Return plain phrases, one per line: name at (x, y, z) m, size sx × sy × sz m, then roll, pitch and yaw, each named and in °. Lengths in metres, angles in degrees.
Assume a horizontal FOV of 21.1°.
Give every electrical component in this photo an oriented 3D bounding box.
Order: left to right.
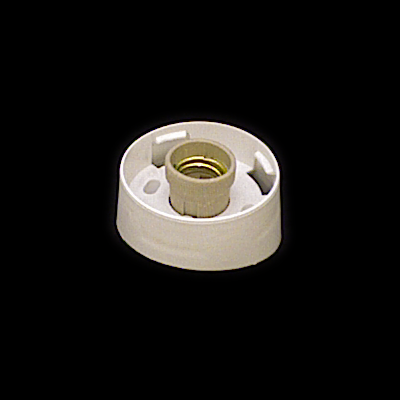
electrical component at (0.000, 0.000, 0.629) m, size 0.099 × 0.064 × 0.098 m, roll 1°, pitch 41°, yaw 0°
